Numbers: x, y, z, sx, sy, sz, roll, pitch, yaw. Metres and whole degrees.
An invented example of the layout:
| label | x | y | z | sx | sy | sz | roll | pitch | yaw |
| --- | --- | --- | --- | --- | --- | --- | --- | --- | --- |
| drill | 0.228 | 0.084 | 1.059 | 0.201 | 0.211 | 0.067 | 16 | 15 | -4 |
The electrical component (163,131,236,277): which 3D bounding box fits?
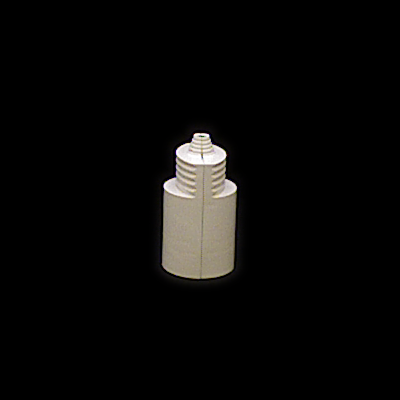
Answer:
| label | x | y | z | sx | sy | sz | roll | pitch | yaw |
| --- | --- | --- | --- | --- | --- | --- | --- | --- | --- |
| electrical component | 0.000 | 0.000 | 0.634 | 0.043 | 0.082 | 0.042 | 1 | 21 | 0 |
